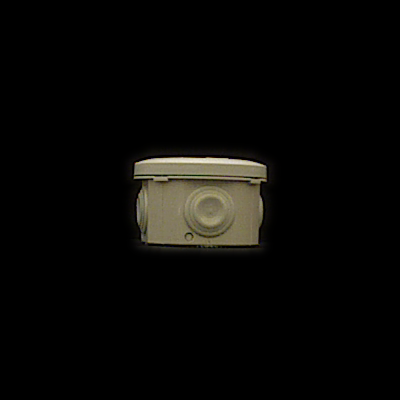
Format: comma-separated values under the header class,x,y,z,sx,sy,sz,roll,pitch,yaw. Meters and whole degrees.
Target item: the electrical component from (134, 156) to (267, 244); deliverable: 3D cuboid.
class,x,y,z,sx,sy,sz,roll,pitch,yaw
electrical component,0.000,0.000,0.648,0.080,0.051,0.080,1,0,0
